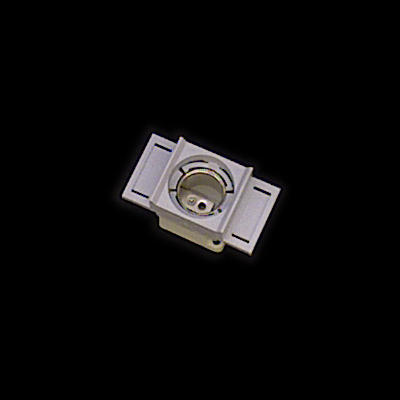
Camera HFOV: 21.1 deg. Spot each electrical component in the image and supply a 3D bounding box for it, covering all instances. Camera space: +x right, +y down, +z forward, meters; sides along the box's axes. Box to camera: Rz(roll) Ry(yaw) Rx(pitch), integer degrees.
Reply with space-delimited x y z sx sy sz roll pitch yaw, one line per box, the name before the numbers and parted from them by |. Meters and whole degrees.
electrical component | 0.000 0.000 0.624 0.081 0.042 0.063 24 -14 7
